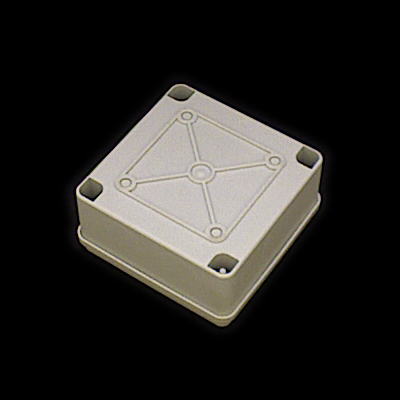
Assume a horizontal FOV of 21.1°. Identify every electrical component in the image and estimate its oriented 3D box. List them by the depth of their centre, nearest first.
[{"bbox_3d":[0.000,0.000,0.628,0.108,0.108,0.056,29,-32,19],"label":"electrical component"}]
